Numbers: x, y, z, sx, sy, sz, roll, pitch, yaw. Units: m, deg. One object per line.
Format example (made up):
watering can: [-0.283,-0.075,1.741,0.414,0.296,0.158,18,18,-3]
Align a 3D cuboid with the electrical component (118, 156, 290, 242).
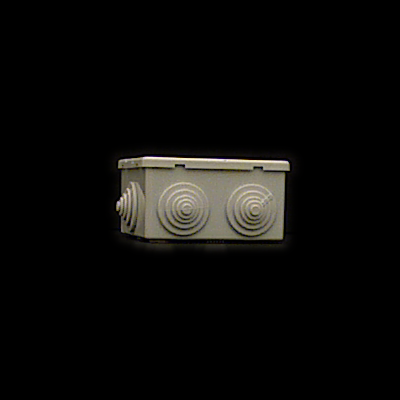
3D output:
electrical component: [0.000,0.000,0.658,0.100,0.048,0.099,1,1,-15]
